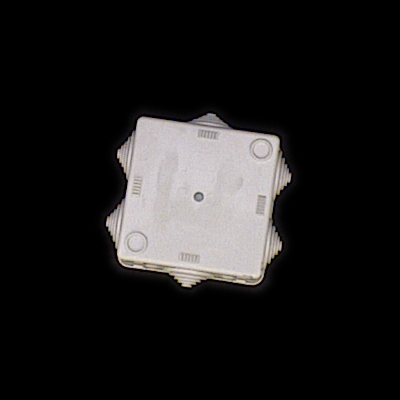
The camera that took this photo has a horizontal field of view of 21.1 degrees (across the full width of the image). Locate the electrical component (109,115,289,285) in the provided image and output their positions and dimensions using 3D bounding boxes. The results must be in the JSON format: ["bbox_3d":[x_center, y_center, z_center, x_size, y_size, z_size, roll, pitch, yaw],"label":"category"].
[{"bbox_3d":[0.000,0.000,0.632,0.100,0.100,0.048,8,-7,1],"label":"electrical component"}]
